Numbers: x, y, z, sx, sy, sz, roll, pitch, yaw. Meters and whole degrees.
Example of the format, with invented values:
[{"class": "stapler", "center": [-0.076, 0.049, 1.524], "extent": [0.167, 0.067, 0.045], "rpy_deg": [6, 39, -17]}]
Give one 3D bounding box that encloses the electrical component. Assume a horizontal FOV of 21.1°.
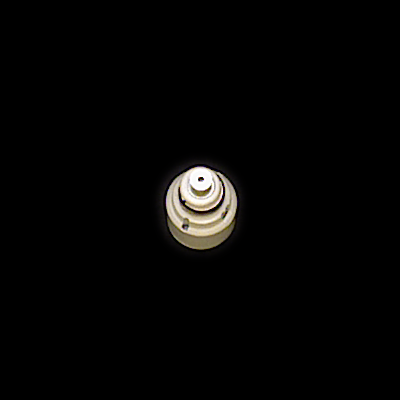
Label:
[{"class": "electrical component", "center": [0.000, 0.000, 0.617], "extent": [0.040, 0.040, 0.078], "rpy_deg": [0, -18, 0]}]
